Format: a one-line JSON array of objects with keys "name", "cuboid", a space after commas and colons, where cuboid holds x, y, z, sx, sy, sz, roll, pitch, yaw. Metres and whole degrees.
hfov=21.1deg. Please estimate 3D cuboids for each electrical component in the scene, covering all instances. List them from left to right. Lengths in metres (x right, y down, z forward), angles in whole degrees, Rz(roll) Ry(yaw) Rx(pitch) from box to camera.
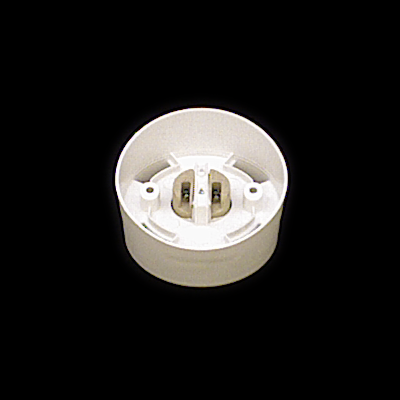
[{"name": "electrical component", "cuboid": [0.000, 0.000, 0.629, 0.099, 0.065, 0.098, 0, 41, 0]}]
